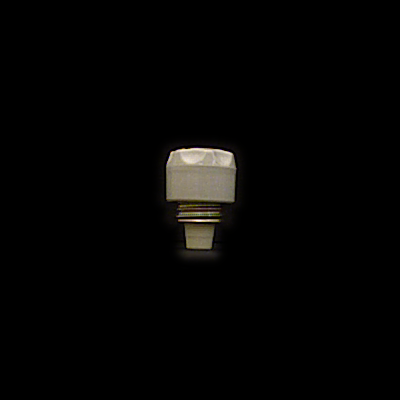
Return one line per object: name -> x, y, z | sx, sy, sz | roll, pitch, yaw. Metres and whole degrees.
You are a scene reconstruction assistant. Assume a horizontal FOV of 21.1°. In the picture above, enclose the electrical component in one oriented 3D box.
electrical component -> 0.000, 0.000, 0.658 | 0.043, 0.062, 0.043 | 2, 1, 0
